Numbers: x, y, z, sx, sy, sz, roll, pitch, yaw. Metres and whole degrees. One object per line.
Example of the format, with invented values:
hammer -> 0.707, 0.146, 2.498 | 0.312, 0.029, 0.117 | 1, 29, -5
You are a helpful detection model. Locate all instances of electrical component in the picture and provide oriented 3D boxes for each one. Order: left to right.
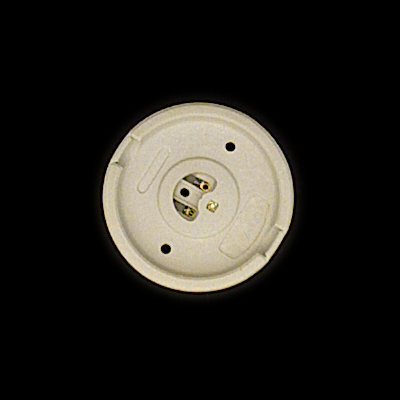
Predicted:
electrical component -> 0.000, 0.000, 0.635 | 0.108, 0.108, 0.060 | 0, -6, 0
